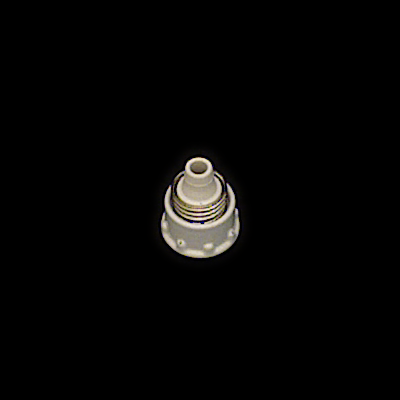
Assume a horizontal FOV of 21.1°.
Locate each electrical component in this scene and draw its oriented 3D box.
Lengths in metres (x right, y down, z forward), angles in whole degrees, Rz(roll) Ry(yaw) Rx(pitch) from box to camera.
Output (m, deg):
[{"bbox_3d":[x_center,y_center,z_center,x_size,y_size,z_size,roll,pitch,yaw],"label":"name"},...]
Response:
[{"bbox_3d":[0.000,0.000,0.635,0.048,0.048,0.062,0,-38,0],"label":"electrical component"}]
